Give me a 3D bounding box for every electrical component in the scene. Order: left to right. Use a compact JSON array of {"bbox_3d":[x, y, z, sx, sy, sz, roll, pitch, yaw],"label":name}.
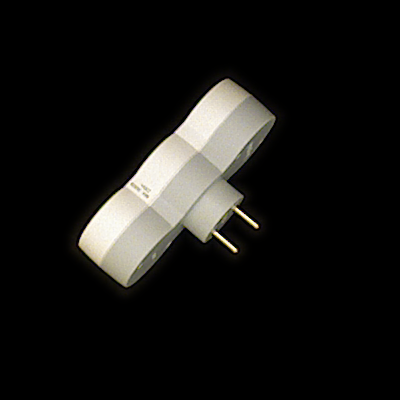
[{"bbox_3d":[0.000,0.000,0.637,0.073,0.139,0.052,40,-12,9],"label":"electrical component"}]
